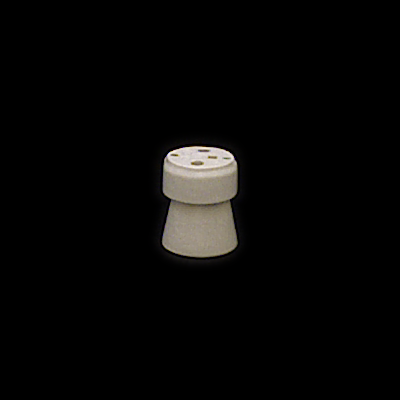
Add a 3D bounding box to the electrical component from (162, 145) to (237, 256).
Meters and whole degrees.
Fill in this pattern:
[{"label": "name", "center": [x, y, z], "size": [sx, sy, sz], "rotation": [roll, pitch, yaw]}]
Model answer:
[{"label": "electrical component", "center": [0.000, 0.000, 0.638], "size": [0.045, 0.056, 0.044], "rotation": [0, 22, 0]}]
